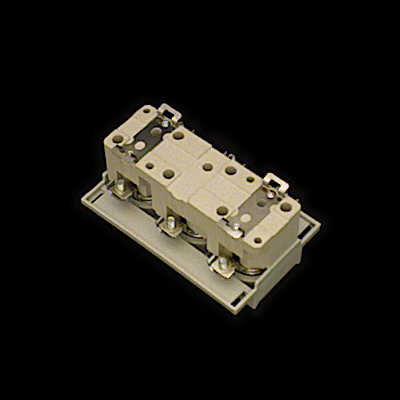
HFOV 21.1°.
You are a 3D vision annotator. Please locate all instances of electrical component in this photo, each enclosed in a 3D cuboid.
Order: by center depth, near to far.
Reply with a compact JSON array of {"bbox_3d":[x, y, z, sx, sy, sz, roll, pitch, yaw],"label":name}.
[{"bbox_3d":[0.000,0.000,0.633,0.120,0.079,0.063,34,-29,23],"label":"electrical component"}]
